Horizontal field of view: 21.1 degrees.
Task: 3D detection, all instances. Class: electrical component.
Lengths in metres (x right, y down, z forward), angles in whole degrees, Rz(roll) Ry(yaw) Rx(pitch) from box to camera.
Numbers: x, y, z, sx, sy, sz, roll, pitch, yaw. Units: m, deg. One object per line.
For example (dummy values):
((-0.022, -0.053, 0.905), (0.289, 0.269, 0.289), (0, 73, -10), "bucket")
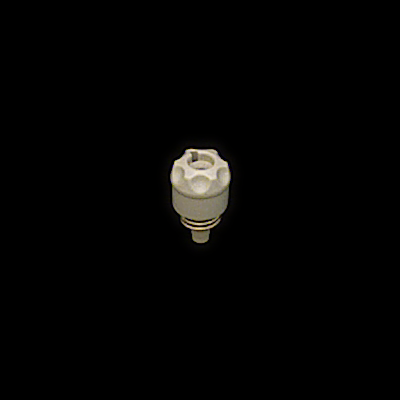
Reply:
((0.000, 0.000, 0.640), (0.035, 0.062, 0.035), (1, 42, 0), "electrical component")
